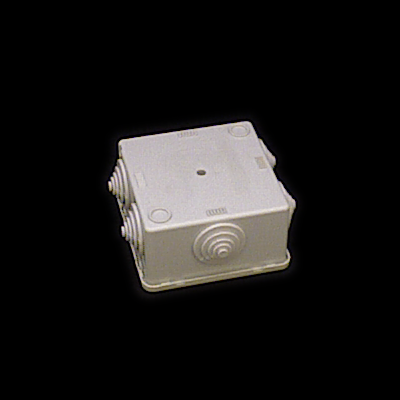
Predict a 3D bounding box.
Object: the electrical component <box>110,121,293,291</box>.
[{"bbox_3d":[0.000,0.000,0.635,0.100,0.049,0.098,-9,43,-11],"label":"electrical component"}]
